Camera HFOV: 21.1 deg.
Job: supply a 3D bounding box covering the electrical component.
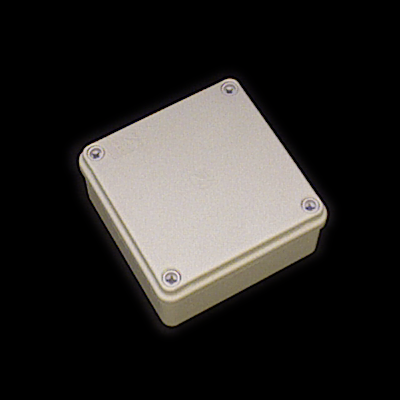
[{"bbox_3d":[0.000,0.000,0.629,0.109,0.109,0.056,-27,-24,-13],"label":"electrical component"}]
